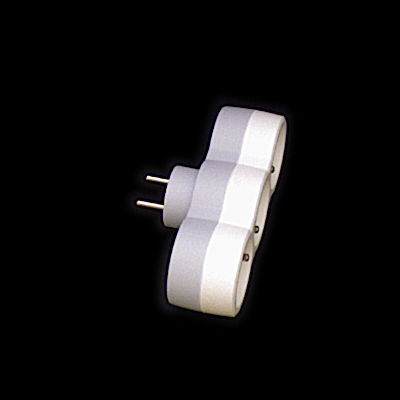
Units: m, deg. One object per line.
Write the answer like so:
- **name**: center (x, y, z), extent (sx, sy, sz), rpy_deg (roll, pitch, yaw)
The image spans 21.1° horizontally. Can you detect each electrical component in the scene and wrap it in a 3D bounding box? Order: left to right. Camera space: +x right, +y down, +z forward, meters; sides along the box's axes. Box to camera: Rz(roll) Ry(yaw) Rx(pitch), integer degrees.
- **electrical component**: center (0.000, 0.000, 0.630), extent (0.073, 0.138, 0.052), rpy_deg (11, -36, 10)
